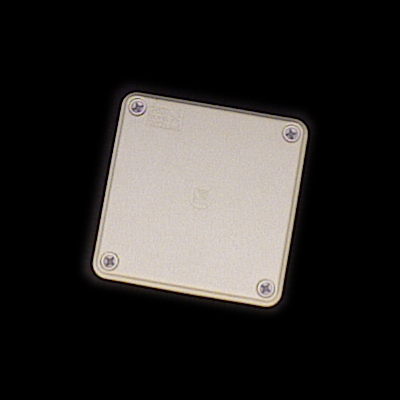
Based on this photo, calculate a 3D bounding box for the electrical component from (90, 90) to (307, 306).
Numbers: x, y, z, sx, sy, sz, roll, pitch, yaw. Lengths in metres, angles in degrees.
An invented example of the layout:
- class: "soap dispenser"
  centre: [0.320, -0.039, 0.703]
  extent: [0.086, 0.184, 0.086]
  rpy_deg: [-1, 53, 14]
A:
- class: "electrical component"
  centre: [0.000, 0.000, 0.630]
  extent: [0.109, 0.109, 0.056]
  rpy_deg: [10, -6, 1]
